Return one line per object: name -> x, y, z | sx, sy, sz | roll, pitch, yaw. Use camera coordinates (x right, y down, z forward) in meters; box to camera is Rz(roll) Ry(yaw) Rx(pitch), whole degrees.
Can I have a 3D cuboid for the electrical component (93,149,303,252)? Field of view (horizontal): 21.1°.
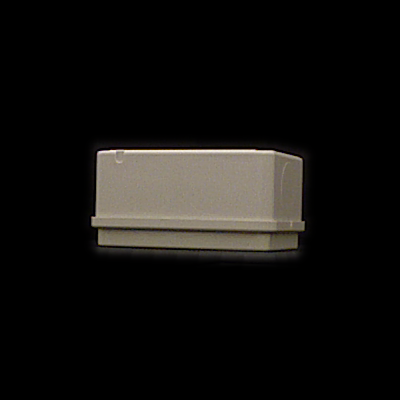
electrical component -> 0.000, 0.000, 0.650 | 0.113, 0.057, 0.078 | 2, 0, 20
